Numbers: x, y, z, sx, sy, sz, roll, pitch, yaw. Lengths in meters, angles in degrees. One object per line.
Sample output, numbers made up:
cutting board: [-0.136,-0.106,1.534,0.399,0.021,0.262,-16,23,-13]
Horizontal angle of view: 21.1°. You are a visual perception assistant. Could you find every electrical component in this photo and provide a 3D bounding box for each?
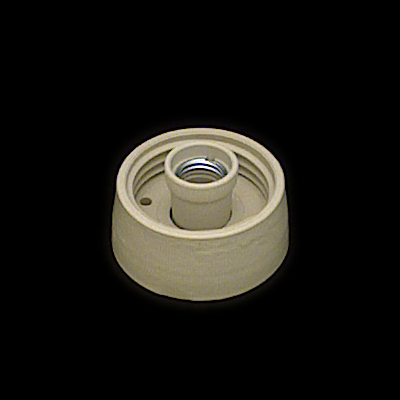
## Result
electrical component: [0.000,0.000,0.636,0.108,0.061,0.107,1,42,0]
